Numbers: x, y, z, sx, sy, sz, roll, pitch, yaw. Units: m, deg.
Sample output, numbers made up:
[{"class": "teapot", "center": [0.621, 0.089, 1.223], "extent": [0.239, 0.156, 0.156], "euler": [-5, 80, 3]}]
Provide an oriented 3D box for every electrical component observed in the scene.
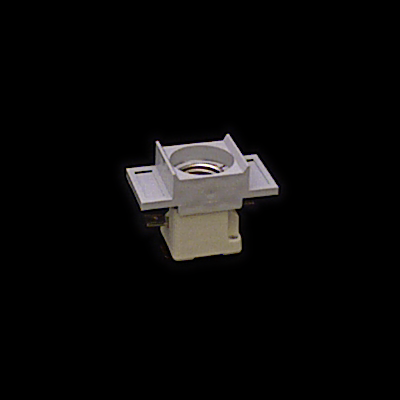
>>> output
[{"class": "electrical component", "center": [0.000, 0.000, 0.632], "extent": [0.081, 0.064, 0.041], "euler": [-7, 33, -14]}]
